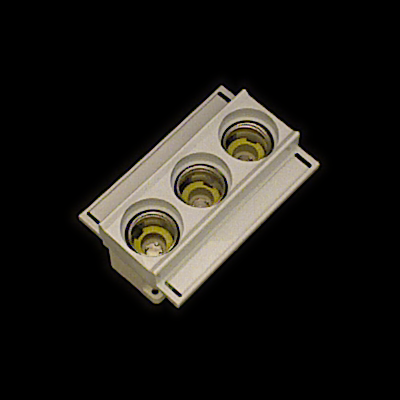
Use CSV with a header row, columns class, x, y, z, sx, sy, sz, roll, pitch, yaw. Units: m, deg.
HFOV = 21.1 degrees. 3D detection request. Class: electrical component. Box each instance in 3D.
class,x,y,z,sx,sy,sz,roll,pitch,yaw
electrical component,0.000,0.000,0.637,0.078,0.121,0.063,40,-20,17
